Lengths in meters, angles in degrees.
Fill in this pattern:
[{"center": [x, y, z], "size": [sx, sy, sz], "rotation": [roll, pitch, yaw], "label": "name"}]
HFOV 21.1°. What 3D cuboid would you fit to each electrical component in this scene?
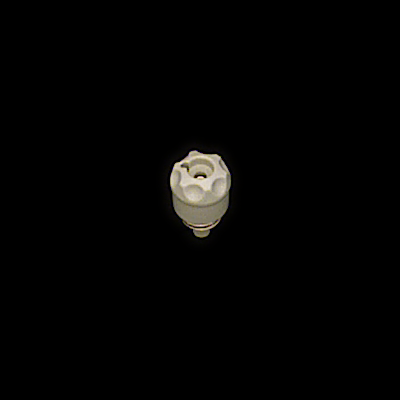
[{"center": [0.000, 0.000, 0.636], "size": [0.035, 0.035, 0.062], "rotation": [0, -37, 0], "label": "electrical component"}]
